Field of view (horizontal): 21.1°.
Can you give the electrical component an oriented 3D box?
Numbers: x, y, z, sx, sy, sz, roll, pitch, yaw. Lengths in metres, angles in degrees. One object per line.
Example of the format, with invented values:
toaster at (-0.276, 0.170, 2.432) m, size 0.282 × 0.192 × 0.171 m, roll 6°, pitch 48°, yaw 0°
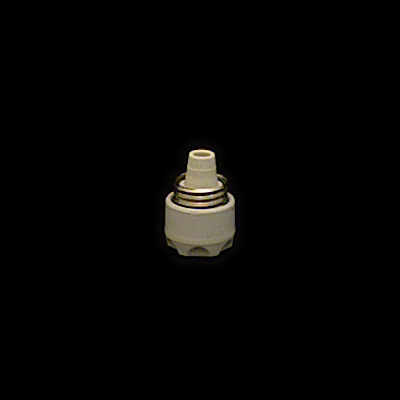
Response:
electrical component at (0.000, 0.000, 0.645) m, size 0.043 × 0.063 × 0.043 m, roll 1°, pitch 23°, yaw 0°
